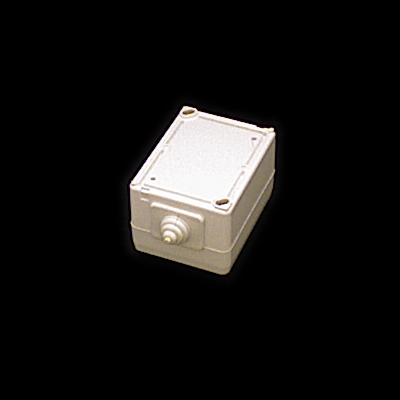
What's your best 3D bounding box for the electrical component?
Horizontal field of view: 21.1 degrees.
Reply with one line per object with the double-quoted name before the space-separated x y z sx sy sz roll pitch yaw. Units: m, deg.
"electrical component" 0.000 0.000 0.631 0.061 0.061 0.096 16 45 16
